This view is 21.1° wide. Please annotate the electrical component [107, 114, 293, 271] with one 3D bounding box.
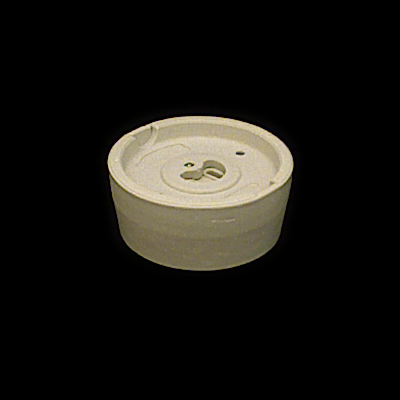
[{"bbox_3d":[0.000,0.000,0.641,0.108,0.061,0.106,1,32,0],"label":"electrical component"}]
